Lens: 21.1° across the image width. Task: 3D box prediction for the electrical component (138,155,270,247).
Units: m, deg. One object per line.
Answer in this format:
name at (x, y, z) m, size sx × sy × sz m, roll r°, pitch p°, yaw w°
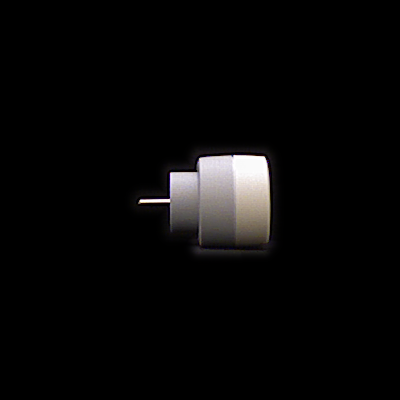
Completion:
electrical component at (0.000, 0.000, 0.647) m, size 0.074 × 0.052 × 0.138 m, roll -1°, pitch 1°, yaw -1°
